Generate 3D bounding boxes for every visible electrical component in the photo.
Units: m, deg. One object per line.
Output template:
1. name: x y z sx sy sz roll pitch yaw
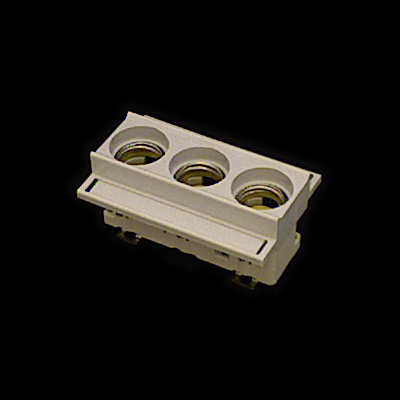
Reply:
1. electrical component: 0.000 0.000 0.641 0.121 0.063 0.078 20 48 20
